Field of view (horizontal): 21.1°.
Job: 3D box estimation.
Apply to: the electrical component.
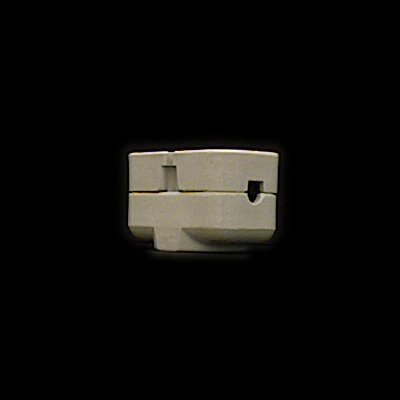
[{"bbox_3d":[0.000,0.000,0.659,0.054,0.059,0.094,0,1,-43],"label":"electrical component"}]
